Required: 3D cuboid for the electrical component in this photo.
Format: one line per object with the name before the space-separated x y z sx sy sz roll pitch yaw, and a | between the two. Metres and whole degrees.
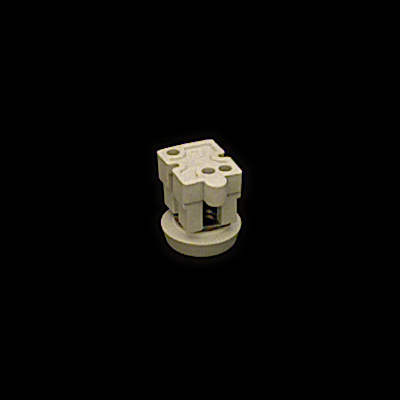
electrical component | 0.000 0.000 0.643 0.048 0.056 0.065 -13 34 -19
